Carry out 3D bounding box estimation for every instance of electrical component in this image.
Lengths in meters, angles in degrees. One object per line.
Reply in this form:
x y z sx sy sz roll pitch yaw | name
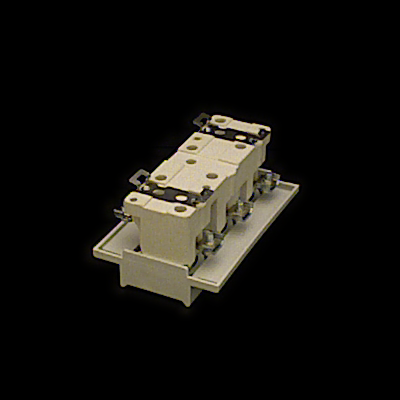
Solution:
0.000 0.000 0.641 0.078 0.064 0.120 15 35 21 | electrical component
